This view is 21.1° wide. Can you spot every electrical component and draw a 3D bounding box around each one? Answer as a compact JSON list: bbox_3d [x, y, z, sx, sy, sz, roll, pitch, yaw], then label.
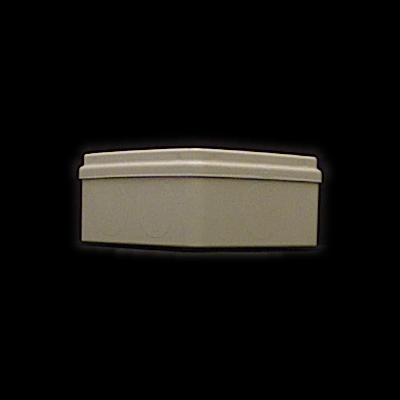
[{"bbox_3d":[0.000,0.000,0.650,0.109,0.056,0.108,1,0,-44],"label":"electrical component"}]
